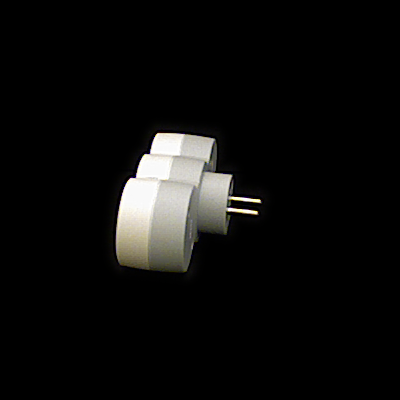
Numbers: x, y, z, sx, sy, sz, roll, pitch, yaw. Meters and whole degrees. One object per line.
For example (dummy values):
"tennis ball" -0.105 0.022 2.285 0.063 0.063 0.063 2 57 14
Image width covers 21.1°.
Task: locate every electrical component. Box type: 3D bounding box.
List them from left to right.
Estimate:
"electrical component" 0.000 0.000 0.646 0.073 0.053 0.137 5 22 7
